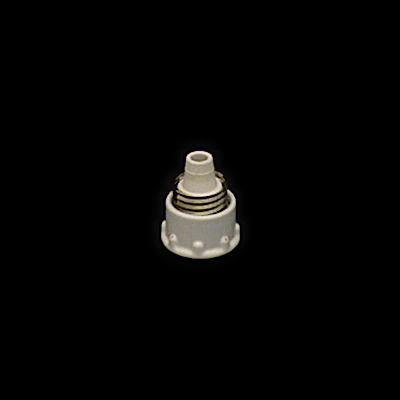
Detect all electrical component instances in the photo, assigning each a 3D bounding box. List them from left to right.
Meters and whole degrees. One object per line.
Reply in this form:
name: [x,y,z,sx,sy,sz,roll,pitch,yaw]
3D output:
electrical component: [0.000,0.000,0.640,0.048,0.063,0.047,0,32,1]
